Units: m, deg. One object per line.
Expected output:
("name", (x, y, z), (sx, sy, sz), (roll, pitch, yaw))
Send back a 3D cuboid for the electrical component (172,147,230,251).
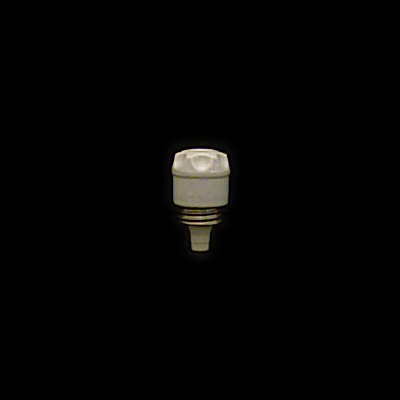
("electrical component", (0.000, 0.000, 0.652), (0.035, 0.062, 0.035), (1, 12, 0))
